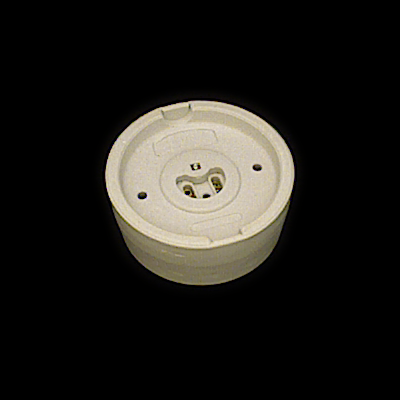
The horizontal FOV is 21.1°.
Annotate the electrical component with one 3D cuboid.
[{"bbox_3d":[0.000,0.000,0.637,0.108,0.107,0.060,0,-37,-1],"label":"electrical component"}]
